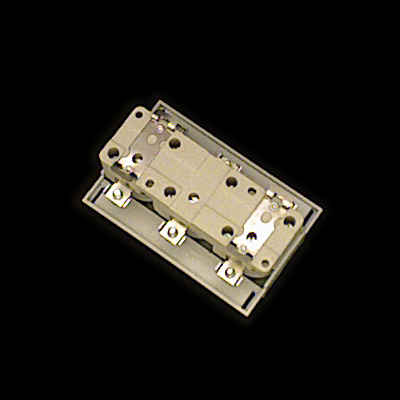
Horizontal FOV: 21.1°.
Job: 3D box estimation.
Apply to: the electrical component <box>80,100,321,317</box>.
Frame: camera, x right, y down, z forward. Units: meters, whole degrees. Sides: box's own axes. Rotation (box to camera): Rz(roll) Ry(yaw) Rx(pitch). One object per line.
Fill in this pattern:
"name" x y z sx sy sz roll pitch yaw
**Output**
"electrical component" 0.000 0.000 0.634 0.121 0.079 0.063 34 -14 9
